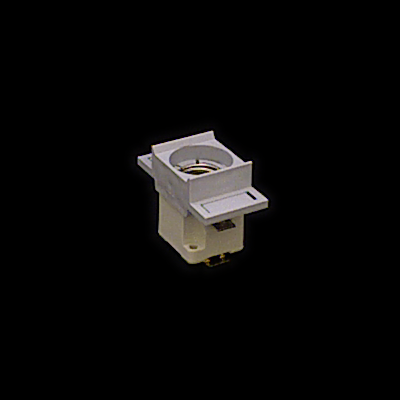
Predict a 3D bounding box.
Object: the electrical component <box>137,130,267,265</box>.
[{"bbox_3d":[0.000,0.000,0.635,0.042,0.064,0.079,-17,36,-25],"label":"electrical component"}]
